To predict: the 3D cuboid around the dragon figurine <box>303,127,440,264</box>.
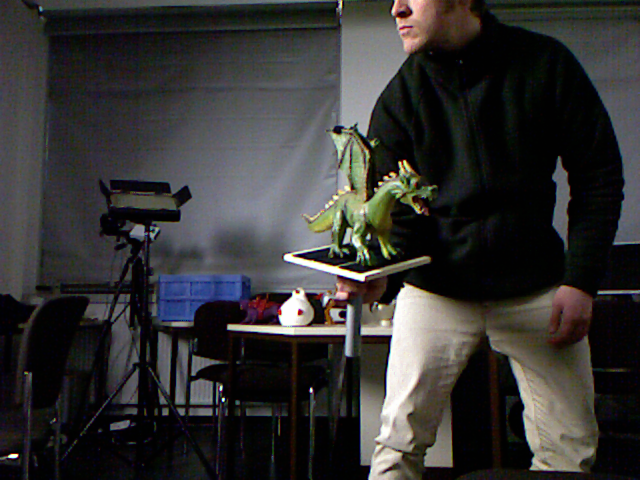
[{"bbox_3d":[0.062,-0.093,0.979,0.123,0.240,0.413,-13,19,-32],"label":"dragon figurine"}]
